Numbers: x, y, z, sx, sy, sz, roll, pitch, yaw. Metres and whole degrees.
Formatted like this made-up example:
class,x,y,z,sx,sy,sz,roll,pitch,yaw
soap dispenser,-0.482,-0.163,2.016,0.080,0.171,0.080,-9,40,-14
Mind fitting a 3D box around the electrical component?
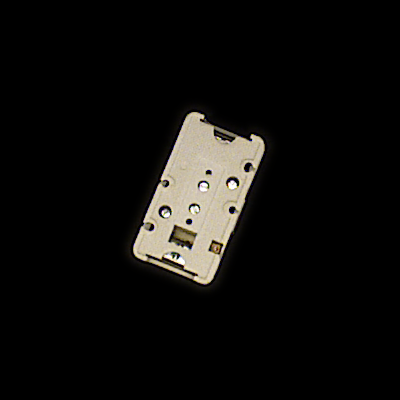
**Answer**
class,x,y,z,sx,sy,sz,roll,pitch,yaw
electrical component,0.000,0.000,0.637,0.050,0.090,0.055,22,-5,2
